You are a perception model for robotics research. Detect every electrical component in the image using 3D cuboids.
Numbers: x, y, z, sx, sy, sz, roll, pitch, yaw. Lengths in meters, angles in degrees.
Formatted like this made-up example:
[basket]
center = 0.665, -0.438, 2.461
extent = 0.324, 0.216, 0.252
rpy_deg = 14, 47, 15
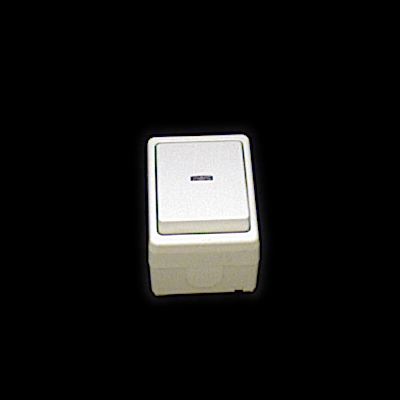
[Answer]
[electrical component]
center = 0.000, 0.000, 0.629
extent = 0.062, 0.096, 0.061
rpy_deg = -2, -38, -2
